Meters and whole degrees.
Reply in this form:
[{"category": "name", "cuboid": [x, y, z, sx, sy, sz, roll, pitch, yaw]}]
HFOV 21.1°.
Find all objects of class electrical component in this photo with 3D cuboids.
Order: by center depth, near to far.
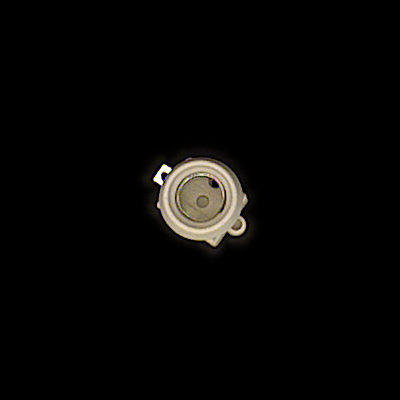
[{"category": "electrical component", "cuboid": [0.000, 0.000, 0.639, 0.066, 0.048, 0.055, 33, -6, 4]}]
